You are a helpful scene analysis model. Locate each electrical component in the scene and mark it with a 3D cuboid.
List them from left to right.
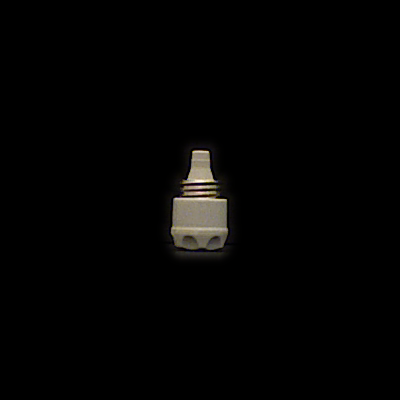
[{"bbox_3d":[0.000,0.000,0.664,0.035,0.061,0.035,1,3,0],"label":"electrical component"}]
